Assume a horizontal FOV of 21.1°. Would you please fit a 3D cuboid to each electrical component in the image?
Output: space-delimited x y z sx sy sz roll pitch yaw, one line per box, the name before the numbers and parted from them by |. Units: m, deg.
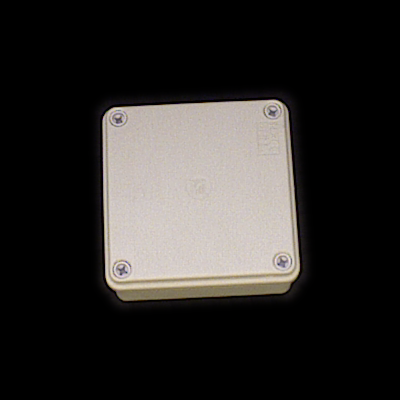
electrical component | 0.000 0.000 0.629 0.109 0.109 0.056 -3 -17 -1
